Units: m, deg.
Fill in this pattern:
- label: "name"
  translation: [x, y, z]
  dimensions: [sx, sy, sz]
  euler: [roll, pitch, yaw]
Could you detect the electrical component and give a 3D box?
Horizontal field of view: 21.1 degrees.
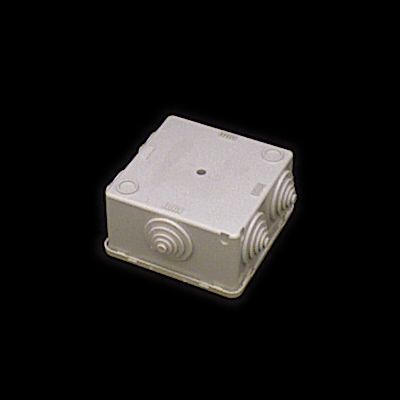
- label: "electrical component"
  translation: [0.000, 0.000, 0.633]
  dimensions: [0.099, 0.049, 0.099]
  euler: [18, 45, 18]
